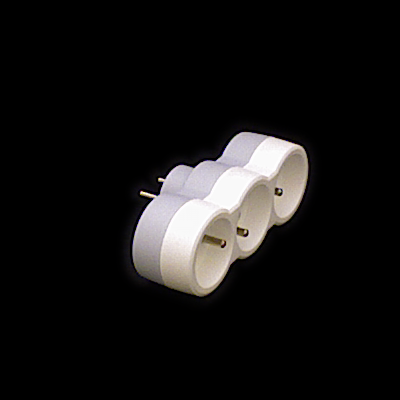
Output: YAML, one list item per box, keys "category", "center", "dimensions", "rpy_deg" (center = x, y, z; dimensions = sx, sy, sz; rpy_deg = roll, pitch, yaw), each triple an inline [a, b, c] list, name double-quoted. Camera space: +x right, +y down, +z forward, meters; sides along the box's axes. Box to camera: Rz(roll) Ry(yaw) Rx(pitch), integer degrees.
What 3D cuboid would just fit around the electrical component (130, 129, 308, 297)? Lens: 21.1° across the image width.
- category: "electrical component"
  center: [0.000, 0.000, 0.634]
  dimensions: [0.073, 0.053, 0.137]
  rpy_deg: [17, 36, 28]
